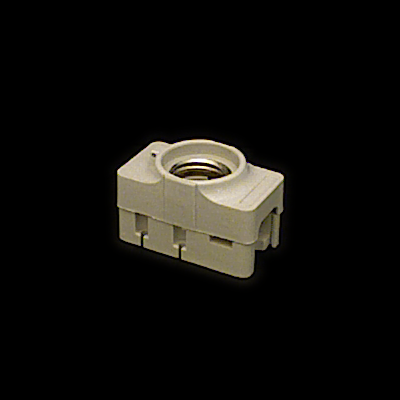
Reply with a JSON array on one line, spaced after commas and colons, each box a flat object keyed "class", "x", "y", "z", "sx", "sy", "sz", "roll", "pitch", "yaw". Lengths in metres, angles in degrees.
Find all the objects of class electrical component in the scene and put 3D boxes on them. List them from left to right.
[{"class": "electrical component", "x": 0.000, "y": 0.000, "z": 0.643, "sx": 0.089, "sy": 0.056, "sz": 0.050, "roll": 16, "pitch": 35, "yaw": 22}]
